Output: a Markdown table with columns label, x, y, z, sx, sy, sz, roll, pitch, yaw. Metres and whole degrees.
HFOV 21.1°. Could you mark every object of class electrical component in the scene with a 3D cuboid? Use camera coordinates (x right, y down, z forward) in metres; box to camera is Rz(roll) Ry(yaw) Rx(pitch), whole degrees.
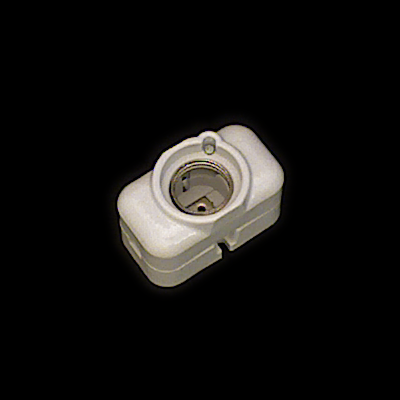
| label | x | y | z | sx | sy | sz | roll | pitch | yaw |
| --- | --- | --- | --- | --- | --- | --- | --- | --- | --- |
| electrical component | 0.000 | 0.000 | 0.634 | 0.096 | 0.053 | 0.059 | -32 | -22 | -15 |
